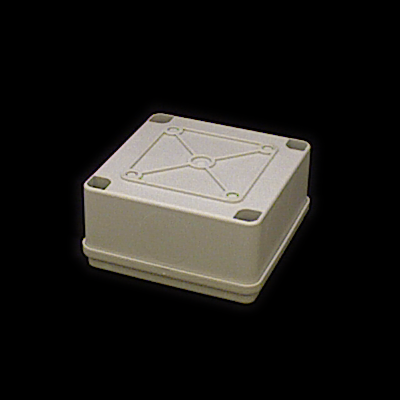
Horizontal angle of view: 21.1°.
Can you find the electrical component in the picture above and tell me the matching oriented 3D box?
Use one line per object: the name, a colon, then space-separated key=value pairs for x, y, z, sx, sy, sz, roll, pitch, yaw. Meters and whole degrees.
electrical component: x=0.000 y=0.000 z=0.637 sx=0.108 sy=0.057 sz=0.107 roll=13 pitch=33 yaw=17
